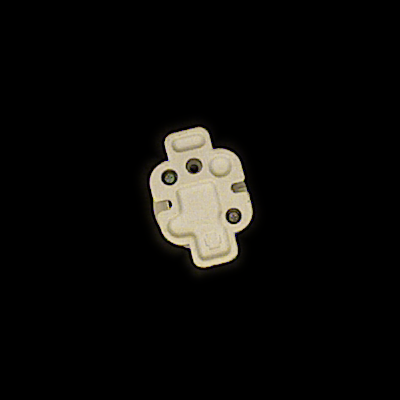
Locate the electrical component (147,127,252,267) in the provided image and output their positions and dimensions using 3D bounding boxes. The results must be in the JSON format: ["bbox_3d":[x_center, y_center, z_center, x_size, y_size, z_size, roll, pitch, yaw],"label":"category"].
[{"bbox_3d":[0.000,0.000,0.637,0.058,0.078,0.056,-15,-4,-1],"label":"electrical component"}]
